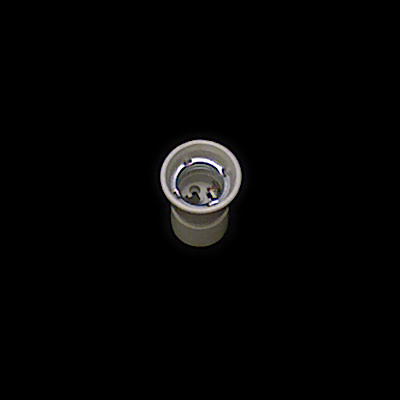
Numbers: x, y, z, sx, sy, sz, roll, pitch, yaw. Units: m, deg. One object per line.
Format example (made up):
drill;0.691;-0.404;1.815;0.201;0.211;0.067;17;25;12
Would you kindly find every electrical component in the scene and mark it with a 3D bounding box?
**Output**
electrical component;0.000;0.000;0.624;0.044;0.044;0.065;0;-26;-1
